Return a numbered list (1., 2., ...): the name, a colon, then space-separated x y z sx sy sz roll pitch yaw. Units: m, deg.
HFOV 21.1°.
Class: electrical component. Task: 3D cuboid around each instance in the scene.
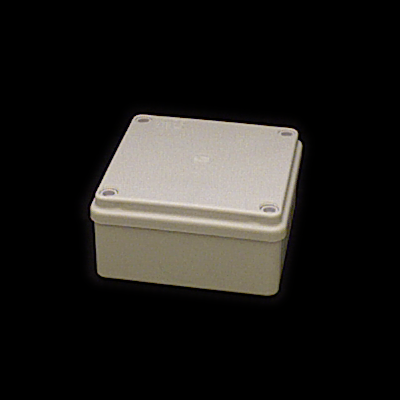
1. electrical component: 0.000 0.000 0.634 0.108 0.057 0.107 6 32 8
